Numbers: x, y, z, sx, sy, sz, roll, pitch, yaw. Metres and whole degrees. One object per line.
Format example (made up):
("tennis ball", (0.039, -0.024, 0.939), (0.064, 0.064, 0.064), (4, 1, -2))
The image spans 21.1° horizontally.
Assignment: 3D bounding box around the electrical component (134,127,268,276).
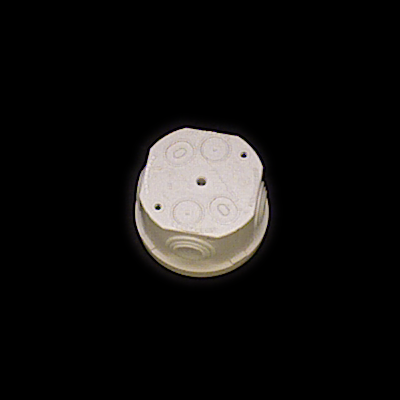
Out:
("electrical component", (0.000, 0.000, 0.631), (0.080, 0.080, 0.050), (0, -27, 0))
